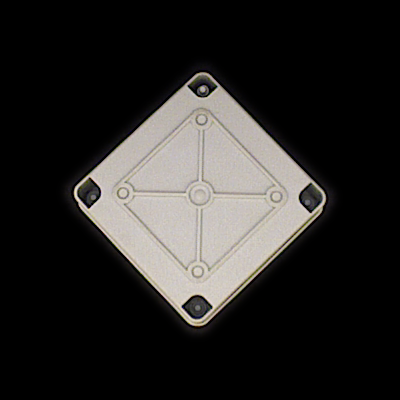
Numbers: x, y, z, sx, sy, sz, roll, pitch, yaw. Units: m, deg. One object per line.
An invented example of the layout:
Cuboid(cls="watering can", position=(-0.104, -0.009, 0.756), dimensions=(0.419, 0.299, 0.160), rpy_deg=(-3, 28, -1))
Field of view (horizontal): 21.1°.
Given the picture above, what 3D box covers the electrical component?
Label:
Cuboid(cls="electrical component", position=(0.000, 0.000, 0.629), dimensions=(0.109, 0.109, 0.056), rpy_deg=(-43, -5, -5))
